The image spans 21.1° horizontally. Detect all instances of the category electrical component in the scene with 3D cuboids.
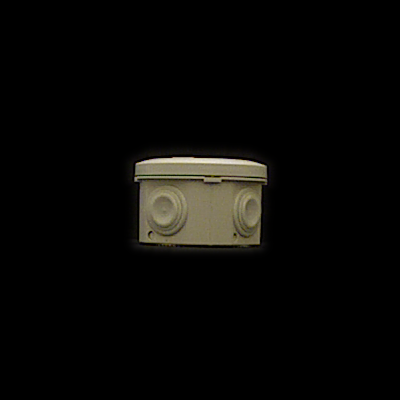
[{"bbox_3d":[0.000,0.000,0.651,0.080,0.051,0.080,1,0,0],"label":"electrical component"}]
